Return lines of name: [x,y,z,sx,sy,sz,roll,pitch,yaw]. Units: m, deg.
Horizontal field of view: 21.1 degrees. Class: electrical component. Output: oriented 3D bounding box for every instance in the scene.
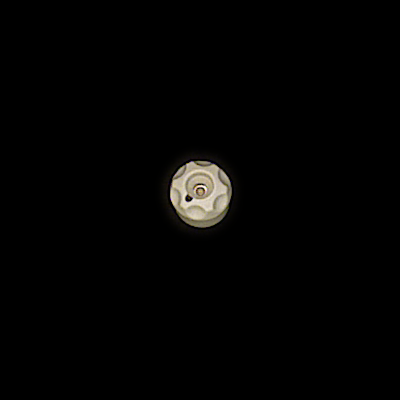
electrical component: [0.000,0.000,0.633,0.035,0.035,0.061,0,-16,1]
